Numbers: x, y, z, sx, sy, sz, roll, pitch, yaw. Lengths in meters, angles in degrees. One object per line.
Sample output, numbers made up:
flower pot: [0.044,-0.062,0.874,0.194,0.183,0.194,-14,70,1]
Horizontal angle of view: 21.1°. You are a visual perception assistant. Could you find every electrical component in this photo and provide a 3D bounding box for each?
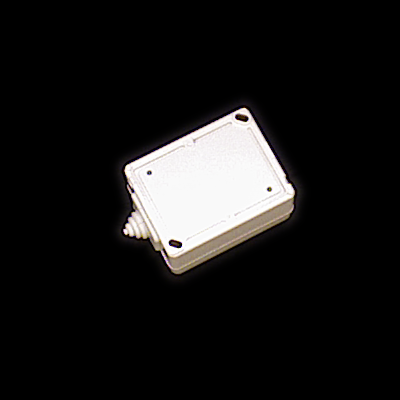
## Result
electrical component: [0.000,0.000,0.628,0.096,0.062,0.060,-27,-15,-7]
